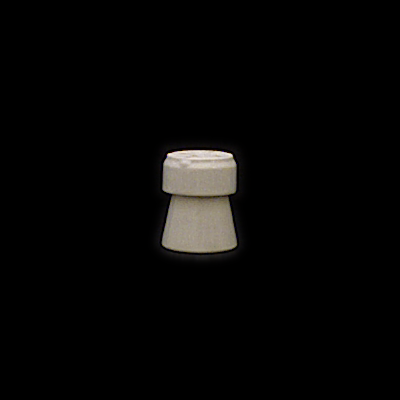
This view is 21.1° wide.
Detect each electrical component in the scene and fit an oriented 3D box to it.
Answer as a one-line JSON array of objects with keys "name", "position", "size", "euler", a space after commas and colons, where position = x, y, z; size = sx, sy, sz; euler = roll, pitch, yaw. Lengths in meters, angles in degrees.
[{"name": "electrical component", "position": [0.000, 0.000, 0.645], "size": [0.045, 0.055, 0.044], "euler": [1, 11, 0]}]
